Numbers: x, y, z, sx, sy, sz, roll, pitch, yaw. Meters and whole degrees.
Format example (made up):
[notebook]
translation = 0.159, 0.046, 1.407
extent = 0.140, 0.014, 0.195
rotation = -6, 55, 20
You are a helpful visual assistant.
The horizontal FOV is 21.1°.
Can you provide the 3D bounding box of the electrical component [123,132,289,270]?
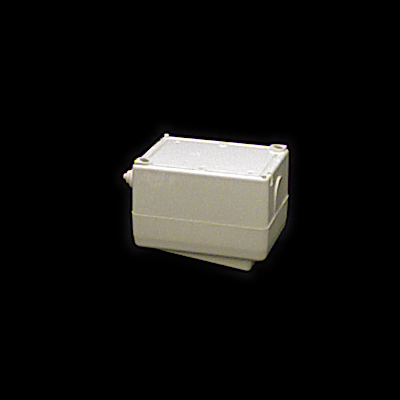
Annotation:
[electrical component]
translation = 0.000, 0.000, 0.639
extent = 0.096, 0.061, 0.061
rotation = 7, 22, 14
